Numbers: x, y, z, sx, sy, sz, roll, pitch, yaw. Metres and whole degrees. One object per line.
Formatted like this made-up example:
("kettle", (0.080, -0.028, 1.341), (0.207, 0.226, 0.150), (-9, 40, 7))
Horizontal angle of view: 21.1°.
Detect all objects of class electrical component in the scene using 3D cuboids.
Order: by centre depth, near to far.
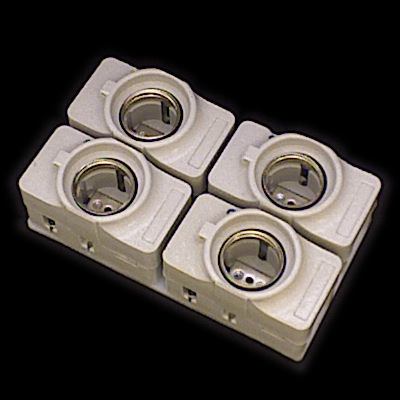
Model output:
("electrical component", (0.000, 0.000, 0.625), (0.186, 0.106, 0.060), (25, -24, 12))
